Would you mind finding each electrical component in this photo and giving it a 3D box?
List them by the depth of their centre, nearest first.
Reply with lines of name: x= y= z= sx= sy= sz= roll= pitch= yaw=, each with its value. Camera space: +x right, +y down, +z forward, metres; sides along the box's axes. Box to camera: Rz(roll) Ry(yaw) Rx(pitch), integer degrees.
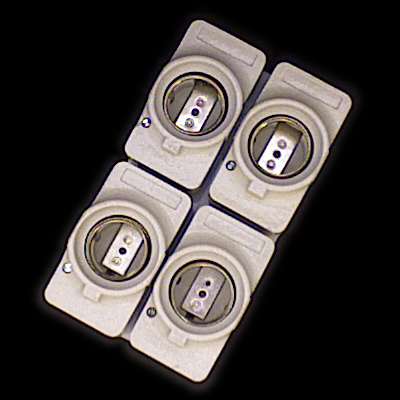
electrical component: x=0.000 y=0.000 z=0.626 sx=0.105 sy=0.187 sz=0.060 roll=28 pitch=-6 yaw=3
